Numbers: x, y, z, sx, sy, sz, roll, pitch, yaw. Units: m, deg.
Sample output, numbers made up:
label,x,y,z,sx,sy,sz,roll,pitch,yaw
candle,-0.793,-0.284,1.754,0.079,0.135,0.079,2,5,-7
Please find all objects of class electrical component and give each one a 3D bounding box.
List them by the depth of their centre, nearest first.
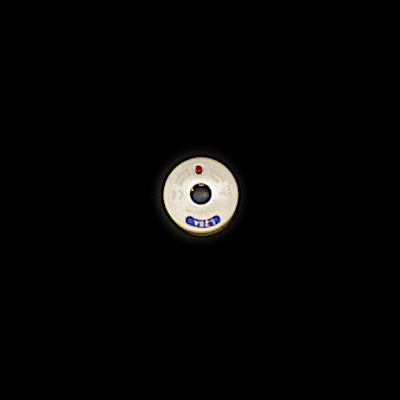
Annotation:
label,x,y,z,sx,sy,sz,roll,pitch,yaw
electrical component,0.000,0.000,0.618,0.040,0.040,0.078,0,-7,1
